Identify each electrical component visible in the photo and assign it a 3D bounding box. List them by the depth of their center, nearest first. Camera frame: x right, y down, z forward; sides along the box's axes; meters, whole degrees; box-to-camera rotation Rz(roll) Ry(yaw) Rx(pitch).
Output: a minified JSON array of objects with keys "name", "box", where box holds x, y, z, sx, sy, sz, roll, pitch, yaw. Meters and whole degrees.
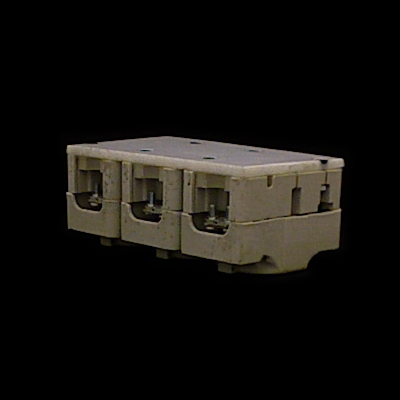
[{"name":"electrical component","box":[0.000,0.000,0.651,0.148,0.062,0.089,10,13,44]}]
